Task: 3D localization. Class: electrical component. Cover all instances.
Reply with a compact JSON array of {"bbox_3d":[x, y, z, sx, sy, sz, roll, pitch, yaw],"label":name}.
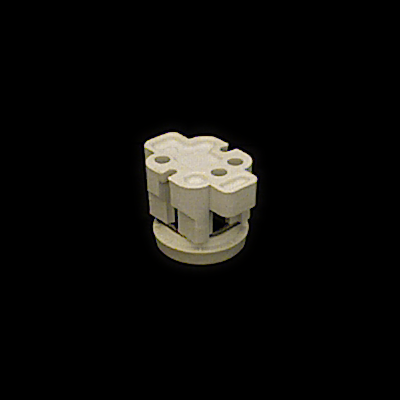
[{"bbox_3d":[0.000,0.000,0.642,0.058,0.057,0.077,-26,40,-35],"label":"electrical component"}]
